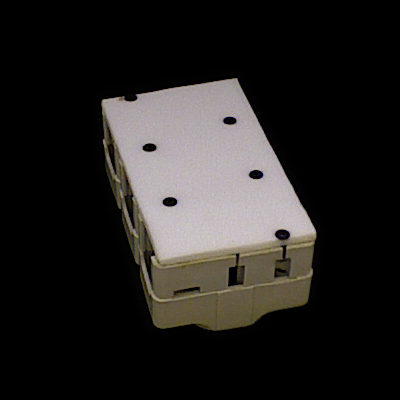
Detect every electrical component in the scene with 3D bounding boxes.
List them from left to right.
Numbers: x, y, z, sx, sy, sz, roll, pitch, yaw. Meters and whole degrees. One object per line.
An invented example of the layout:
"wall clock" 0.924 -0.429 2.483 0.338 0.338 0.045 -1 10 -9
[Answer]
"electrical component" 0.000 0.000 0.635 0.089 0.063 0.147 -10 43 -11
